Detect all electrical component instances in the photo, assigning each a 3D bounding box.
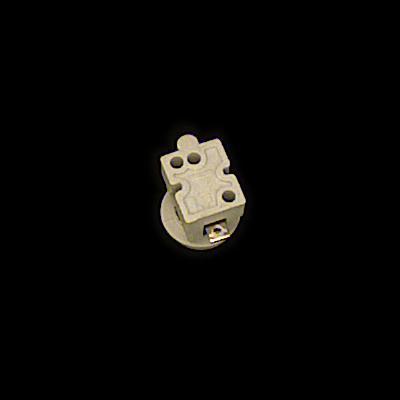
[{"bbox_3d":[0.000,0.000,0.637,0.048,0.066,0.055,-18,-24,-10],"label":"electrical component"}]
